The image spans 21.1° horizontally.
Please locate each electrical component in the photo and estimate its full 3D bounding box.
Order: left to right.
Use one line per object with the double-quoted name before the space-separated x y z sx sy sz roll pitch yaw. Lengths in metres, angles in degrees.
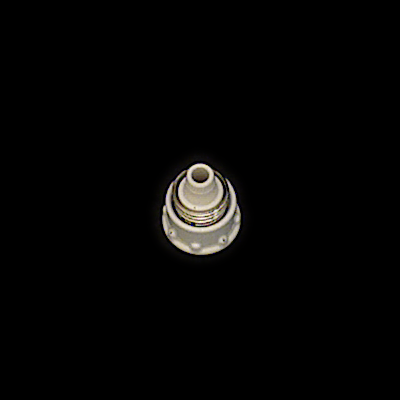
"electrical component" 0.000 0.000 0.634 0.048 0.048 0.062 0 -28 0
